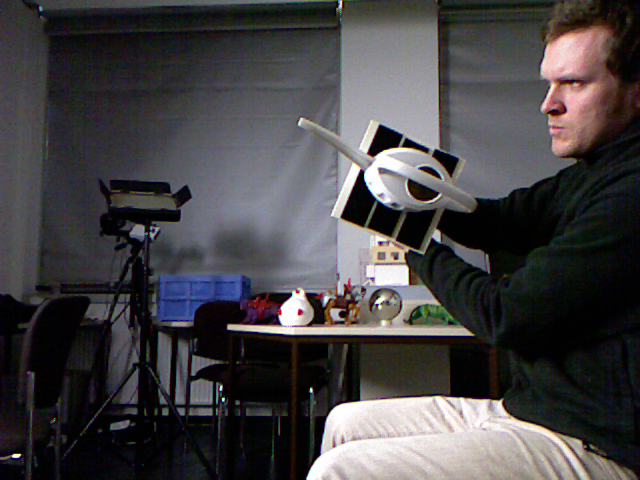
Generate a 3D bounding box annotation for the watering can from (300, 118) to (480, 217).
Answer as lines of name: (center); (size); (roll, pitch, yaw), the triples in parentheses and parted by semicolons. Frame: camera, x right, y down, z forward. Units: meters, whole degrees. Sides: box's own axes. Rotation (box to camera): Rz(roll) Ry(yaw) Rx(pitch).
watering can: (0.122, -0.128, 0.939); (0.349, 0.105, 0.226); (26, 0, -5)
